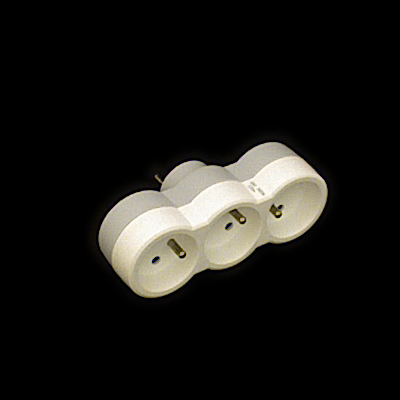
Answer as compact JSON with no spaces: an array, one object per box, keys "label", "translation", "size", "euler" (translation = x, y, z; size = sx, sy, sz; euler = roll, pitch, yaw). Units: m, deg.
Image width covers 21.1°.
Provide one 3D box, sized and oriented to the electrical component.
[{"label":"electrical component","translation":[0.000,0.000,0.643],"size":[0.139,0.053,0.072],"euler":[-22,46,-23]}]
